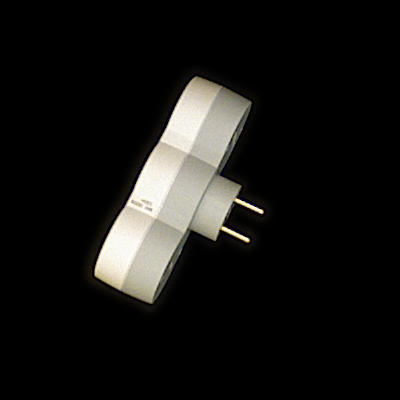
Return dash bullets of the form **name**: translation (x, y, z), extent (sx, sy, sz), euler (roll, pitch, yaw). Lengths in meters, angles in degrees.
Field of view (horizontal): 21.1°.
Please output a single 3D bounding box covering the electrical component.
- **electrical component**: translation (0.000, 0.000, 0.637), extent (0.073, 0.139, 0.052), euler (25, -15, 6)
